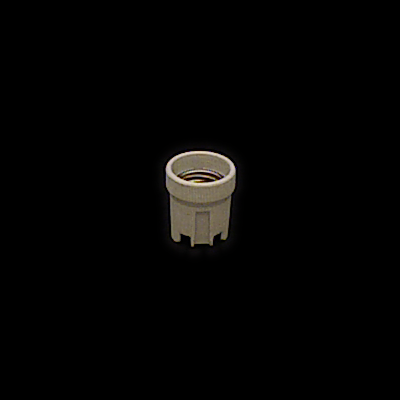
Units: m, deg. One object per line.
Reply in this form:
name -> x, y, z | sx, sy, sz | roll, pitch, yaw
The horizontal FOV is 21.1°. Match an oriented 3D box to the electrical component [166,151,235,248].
electrical component -> 0.000, 0.000, 0.634 | 0.040, 0.047, 0.039 | 1, 32, 0
